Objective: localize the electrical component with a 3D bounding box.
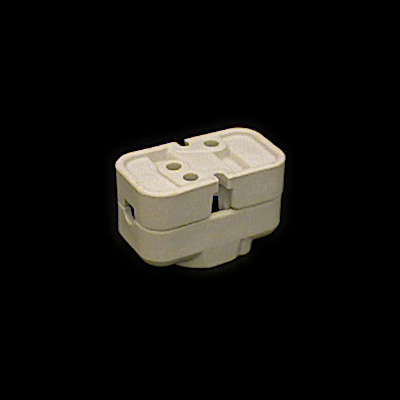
[{"bbox_3d":[0.000,0.000,0.641,0.095,0.060,0.053,-15,36,-25],"label":"electrical component"}]
